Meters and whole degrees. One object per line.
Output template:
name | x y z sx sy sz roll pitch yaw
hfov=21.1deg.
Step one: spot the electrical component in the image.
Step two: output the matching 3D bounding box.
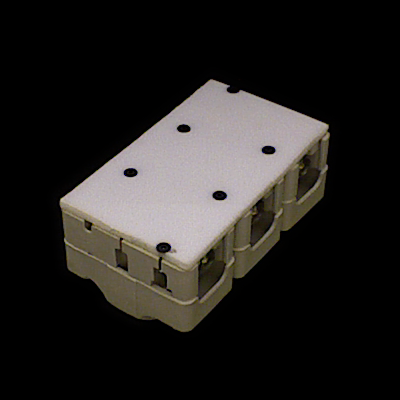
electrical component | 0.000 0.000 0.639 0.089 0.063 0.148 26 47 25
